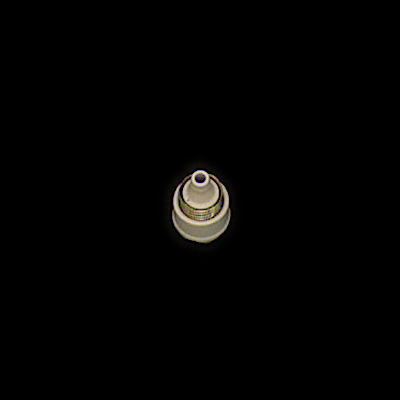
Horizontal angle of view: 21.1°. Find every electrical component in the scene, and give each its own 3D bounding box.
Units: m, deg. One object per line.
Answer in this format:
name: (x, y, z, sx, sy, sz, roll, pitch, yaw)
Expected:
electrical component: (0.000, 0.000, 0.638, 0.035, 0.035, 0.061, 0, -25, 1)
